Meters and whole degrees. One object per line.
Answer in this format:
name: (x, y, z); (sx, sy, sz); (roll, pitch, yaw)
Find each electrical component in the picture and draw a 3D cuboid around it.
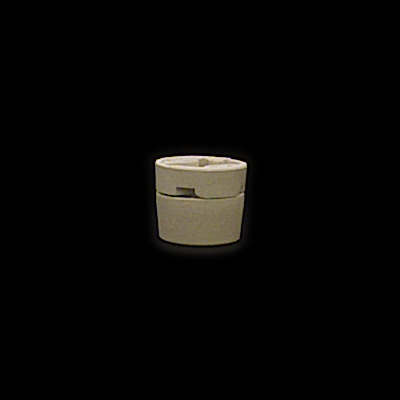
electrical component: (0.000, 0.000, 0.647); (0.055, 0.047, 0.055); (1, 11, 0)
